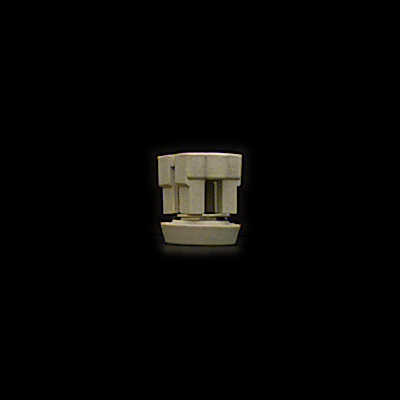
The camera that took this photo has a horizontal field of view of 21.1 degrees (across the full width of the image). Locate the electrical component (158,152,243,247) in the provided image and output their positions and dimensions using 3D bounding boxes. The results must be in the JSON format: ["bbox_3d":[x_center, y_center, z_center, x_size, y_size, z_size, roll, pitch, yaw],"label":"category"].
[{"bbox_3d":[0.000,0.000,0.656,0.049,0.055,0.066,-1,1,-26],"label":"electrical component"}]
